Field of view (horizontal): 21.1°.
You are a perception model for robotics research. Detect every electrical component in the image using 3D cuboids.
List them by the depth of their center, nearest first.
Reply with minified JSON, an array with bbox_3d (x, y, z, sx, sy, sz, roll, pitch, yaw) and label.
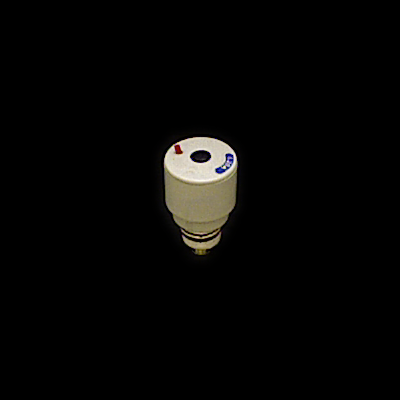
[{"bbox_3d":[0.000,0.000,0.625,0.040,0.079,0.039,0,42,0],"label":"electrical component"}]
